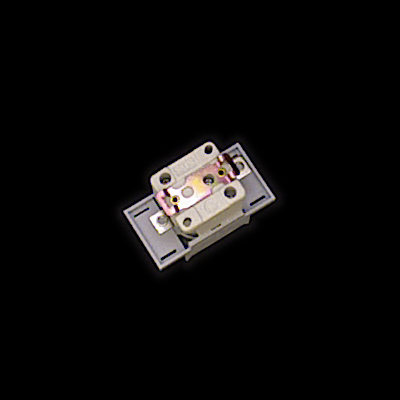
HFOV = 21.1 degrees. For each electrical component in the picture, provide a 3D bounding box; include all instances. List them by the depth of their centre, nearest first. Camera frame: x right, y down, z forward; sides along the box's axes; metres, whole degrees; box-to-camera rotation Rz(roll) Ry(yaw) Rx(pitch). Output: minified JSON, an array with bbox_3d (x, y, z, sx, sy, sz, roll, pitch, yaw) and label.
[{"bbox_3d":[0.000,0.000,0.625,0.081,0.042,0.063,-32,-14,-9],"label":"electrical component"}]
